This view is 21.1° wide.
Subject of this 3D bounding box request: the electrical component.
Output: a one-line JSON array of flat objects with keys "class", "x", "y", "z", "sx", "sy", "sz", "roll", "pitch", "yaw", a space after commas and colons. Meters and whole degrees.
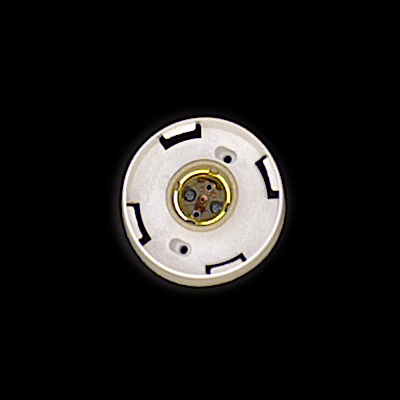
[{"class": "electrical component", "x": 0.000, "y": 0.000, "z": 0.625, "sx": 0.099, "sy": 0.099, "sz": 0.064, "roll": 0, "pitch": -7, "yaw": 1}]
